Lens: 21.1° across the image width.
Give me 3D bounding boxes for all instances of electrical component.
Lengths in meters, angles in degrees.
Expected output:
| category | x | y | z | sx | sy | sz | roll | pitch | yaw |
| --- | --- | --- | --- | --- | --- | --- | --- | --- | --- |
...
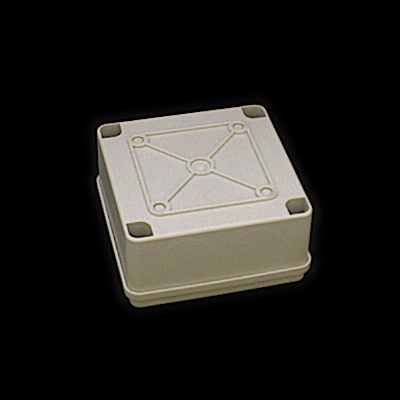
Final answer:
| category | x | y | z | sx | sy | sz | roll | pitch | yaw |
| --- | --- | --- | --- | --- | --- | --- | --- | --- | --- |
| electrical component | 0.000 | 0.000 | 0.632 | 0.109 | 0.057 | 0.107 | -8 | 43 | -11 |
